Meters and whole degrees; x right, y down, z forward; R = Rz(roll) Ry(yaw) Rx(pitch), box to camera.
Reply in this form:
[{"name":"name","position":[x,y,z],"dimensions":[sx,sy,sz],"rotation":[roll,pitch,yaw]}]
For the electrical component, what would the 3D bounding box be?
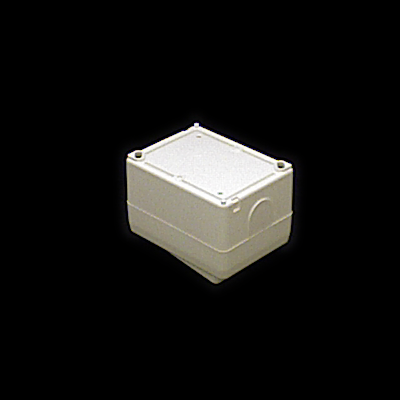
[{"name":"electrical component","position":[0.000,0.000,0.637],"dimensions":[0.095,0.062,0.062],"rotation":[27,40,35]}]
